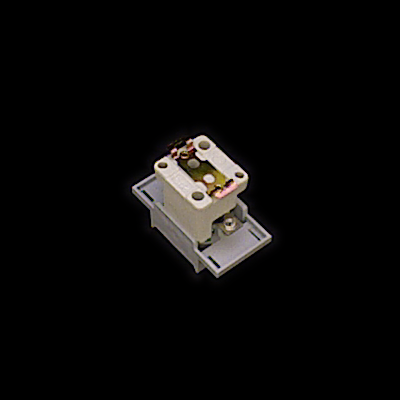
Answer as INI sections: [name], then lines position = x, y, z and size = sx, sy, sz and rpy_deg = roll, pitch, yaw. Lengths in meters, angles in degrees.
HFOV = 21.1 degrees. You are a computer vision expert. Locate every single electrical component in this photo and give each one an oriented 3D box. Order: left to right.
[electrical component]
position = 0.000, 0.000, 0.627
size = 0.042, 0.064, 0.080
rpy_deg = -33, 59, -23
